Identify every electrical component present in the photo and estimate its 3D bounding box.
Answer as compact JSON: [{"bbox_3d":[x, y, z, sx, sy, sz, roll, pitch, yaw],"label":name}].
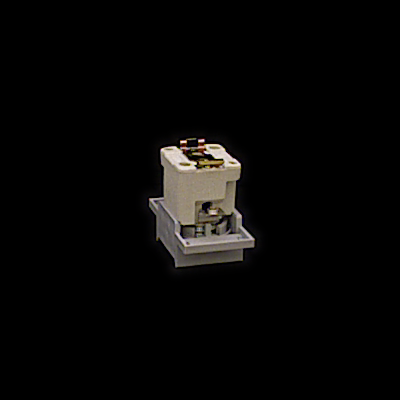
[{"bbox_3d":[0.000,0.000,0.638,0.042,0.064,0.080,-6,22,-17],"label":"electrical component"}]
